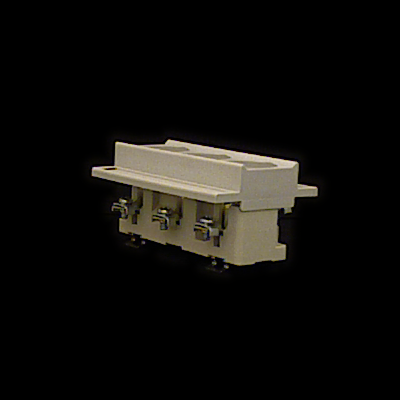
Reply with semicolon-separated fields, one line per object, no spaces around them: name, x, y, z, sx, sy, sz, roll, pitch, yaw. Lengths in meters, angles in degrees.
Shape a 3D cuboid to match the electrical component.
electrical component;0.000;0.000;0.658;0.079;0.063;0.120;-6;13;-39
